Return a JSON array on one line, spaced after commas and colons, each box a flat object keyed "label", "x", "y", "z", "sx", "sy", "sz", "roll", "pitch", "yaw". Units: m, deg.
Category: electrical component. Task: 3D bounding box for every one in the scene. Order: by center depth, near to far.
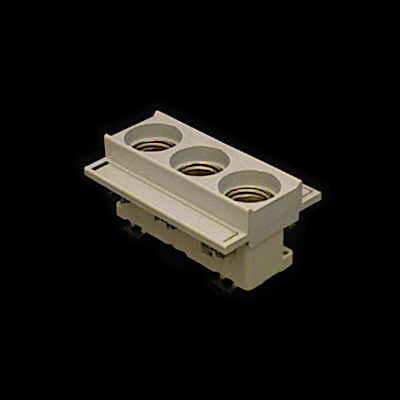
[{"label": "electrical component", "x": 0.000, "y": 0.000, "z": 0.645, "sx": 0.078, "sy": 0.064, "sz": 0.120, "roll": -28, "pitch": 42, "yaw": -35}]
